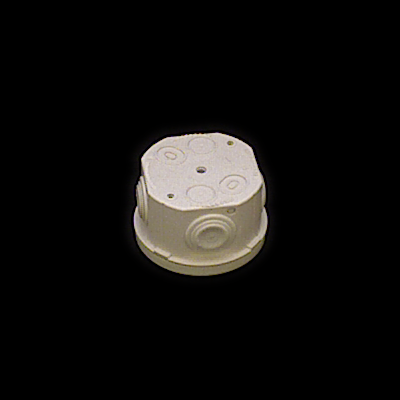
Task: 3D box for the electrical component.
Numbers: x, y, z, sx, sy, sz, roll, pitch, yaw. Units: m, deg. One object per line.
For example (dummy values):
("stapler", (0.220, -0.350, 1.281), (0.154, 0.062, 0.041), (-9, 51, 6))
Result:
("electrical component", (0.000, 0.000, 0.635), (0.080, 0.051, 0.079), (1, 42, 0))
